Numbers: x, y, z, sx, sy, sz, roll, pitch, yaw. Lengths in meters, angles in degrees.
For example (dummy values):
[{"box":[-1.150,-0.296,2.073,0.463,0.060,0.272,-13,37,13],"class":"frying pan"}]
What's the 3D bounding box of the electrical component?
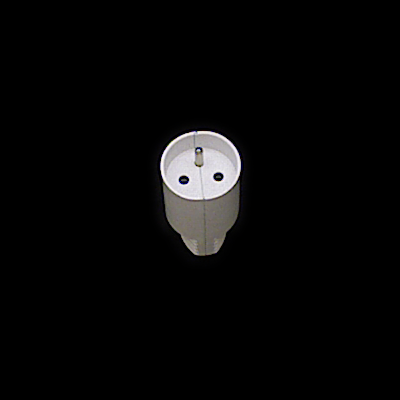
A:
[{"box":[0.000,0.000,0.617,0.043,0.043,0.081,0,-28,0],"class":"electrical component"}]
